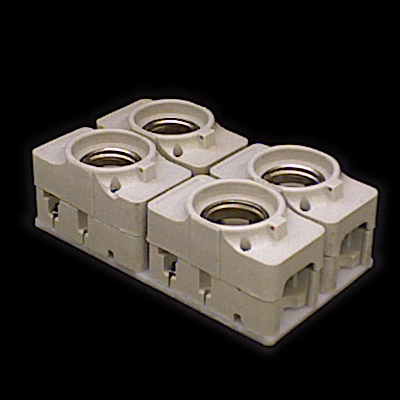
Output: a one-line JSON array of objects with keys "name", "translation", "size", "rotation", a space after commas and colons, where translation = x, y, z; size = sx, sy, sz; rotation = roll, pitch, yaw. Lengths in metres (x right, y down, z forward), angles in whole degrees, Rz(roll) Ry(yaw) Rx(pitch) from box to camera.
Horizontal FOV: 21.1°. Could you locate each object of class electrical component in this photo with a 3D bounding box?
[{"name": "electrical component", "translation": [0.000, 0.000, 0.634], "size": [0.185, 0.061, 0.105], "rotation": [24, 38, 33]}]
